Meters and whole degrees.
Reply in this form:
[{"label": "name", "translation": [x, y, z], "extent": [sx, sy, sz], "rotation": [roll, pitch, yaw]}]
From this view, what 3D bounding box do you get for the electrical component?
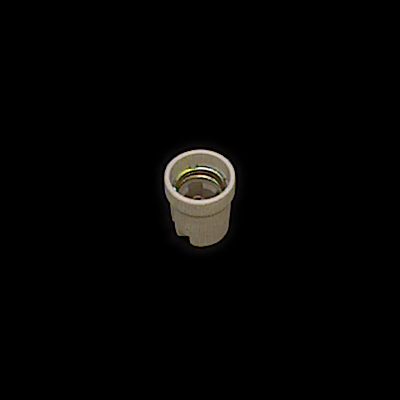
[{"label": "electrical component", "translation": [0.000, 0.000, 0.630], "extent": [0.040, 0.040, 0.046], "rotation": [0, -38, -1]}]
